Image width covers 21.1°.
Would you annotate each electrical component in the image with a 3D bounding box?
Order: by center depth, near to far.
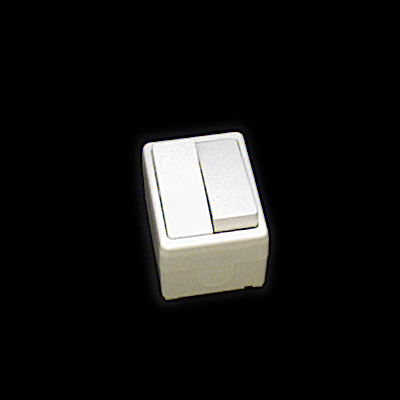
[{"bbox_3d":[0.000,0.000,0.630,0.062,0.096,0.061,-7,-37,-6],"label":"electrical component"}]
